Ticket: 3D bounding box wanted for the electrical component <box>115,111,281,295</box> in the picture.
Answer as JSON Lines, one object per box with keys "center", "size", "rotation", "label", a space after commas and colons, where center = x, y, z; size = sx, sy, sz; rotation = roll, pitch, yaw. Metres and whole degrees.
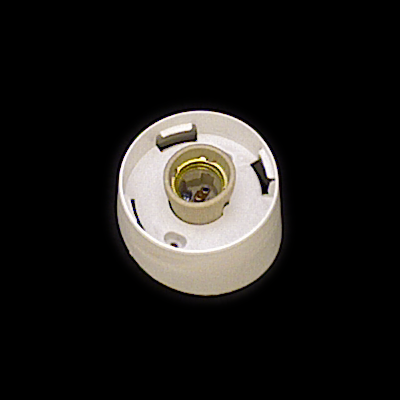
{"center": [0.000, 0.000, 0.625], "size": [0.099, 0.099, 0.064], "rotation": [0, -27, -1], "label": "electrical component"}
